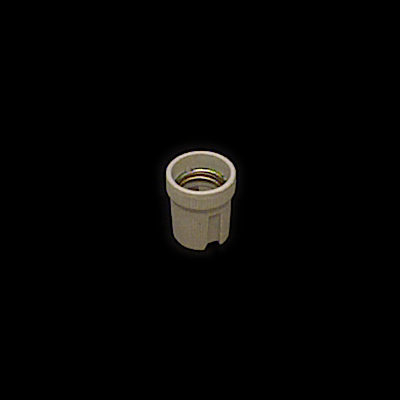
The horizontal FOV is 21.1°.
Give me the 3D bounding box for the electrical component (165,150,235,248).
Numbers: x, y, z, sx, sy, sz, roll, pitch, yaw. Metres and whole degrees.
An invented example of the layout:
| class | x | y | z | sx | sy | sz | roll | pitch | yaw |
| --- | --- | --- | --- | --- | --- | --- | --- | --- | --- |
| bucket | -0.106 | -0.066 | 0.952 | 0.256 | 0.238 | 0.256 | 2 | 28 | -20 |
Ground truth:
| class | x | y | z | sx | sy | sz | roll | pitch | yaw |
| --- | --- | --- | --- | --- | --- | --- | --- | --- | --- |
| electrical component | 0.000 | 0.000 | 0.635 | 0.040 | 0.047 | 0.039 | 1 | 42 | 0 |
